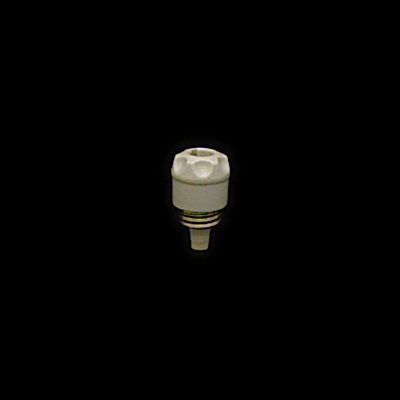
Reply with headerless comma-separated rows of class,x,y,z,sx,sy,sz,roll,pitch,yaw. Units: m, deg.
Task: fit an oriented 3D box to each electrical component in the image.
electrical component,0.000,0.000,0.648,0.035,0.062,0.034,1,22,0
